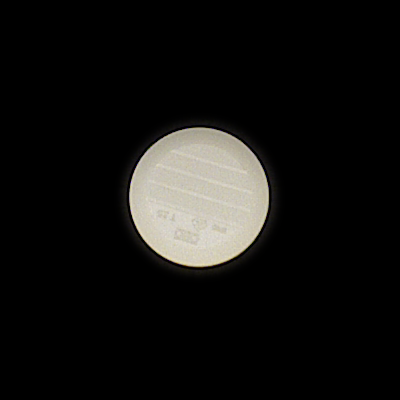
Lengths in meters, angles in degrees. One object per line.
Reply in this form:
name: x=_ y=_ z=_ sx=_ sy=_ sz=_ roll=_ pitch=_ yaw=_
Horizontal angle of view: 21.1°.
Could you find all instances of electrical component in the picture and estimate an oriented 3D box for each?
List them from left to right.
electrical component: x=0.000 y=0.000 z=0.631 sx=0.080 sy=0.080 sz=0.050 roll=0 pitch=-7 yaw=0
